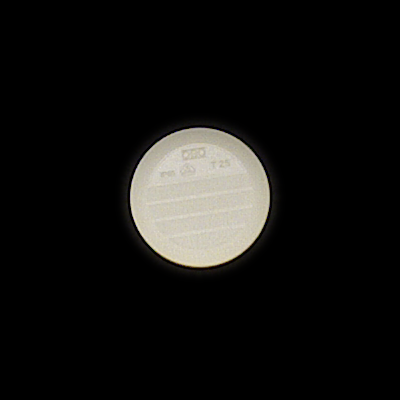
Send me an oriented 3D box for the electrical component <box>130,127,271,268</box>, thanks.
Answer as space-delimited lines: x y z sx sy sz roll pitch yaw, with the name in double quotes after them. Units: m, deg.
0.000 0.000 0.631 0.080 0.080 0.050 0 -6 0 "electrical component"
